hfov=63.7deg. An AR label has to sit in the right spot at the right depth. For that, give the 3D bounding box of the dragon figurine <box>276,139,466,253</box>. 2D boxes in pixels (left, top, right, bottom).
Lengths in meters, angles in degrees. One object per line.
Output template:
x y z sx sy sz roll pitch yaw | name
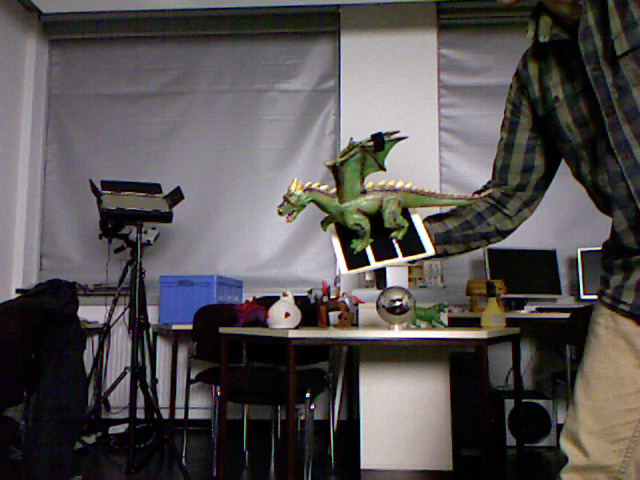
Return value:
0.110 -0.106 1.057 0.412 0.125 0.237 -18 -39 -5 | dragon figurine
